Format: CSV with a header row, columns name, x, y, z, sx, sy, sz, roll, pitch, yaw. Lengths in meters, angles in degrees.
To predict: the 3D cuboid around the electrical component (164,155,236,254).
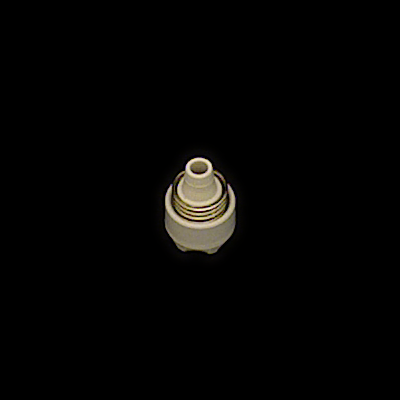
name,x,y,z,sx,sy,sz,roll,pitch,yaw
electrical component,0.000,0.000,0.636,0.043,0.043,0.062,0,-38,0
